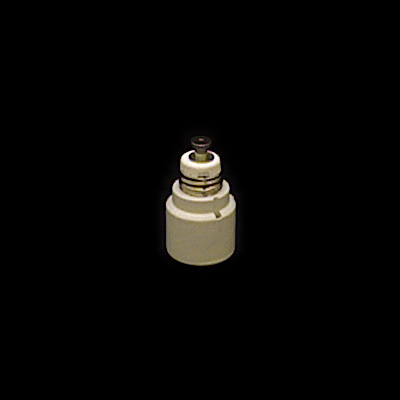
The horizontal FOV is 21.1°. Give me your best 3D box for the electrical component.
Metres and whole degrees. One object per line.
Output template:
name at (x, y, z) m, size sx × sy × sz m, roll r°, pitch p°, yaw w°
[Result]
electrical component at (0.000, 0.000, 0.628) m, size 0.040 × 0.079 × 0.039 m, roll 0°, pitch 31°, yaw 0°
